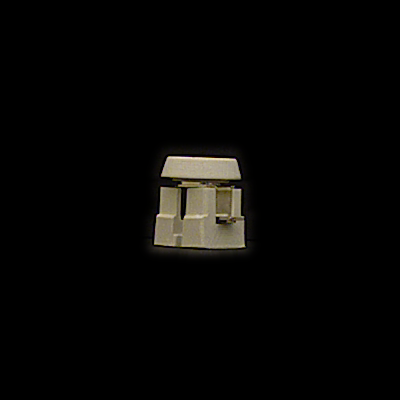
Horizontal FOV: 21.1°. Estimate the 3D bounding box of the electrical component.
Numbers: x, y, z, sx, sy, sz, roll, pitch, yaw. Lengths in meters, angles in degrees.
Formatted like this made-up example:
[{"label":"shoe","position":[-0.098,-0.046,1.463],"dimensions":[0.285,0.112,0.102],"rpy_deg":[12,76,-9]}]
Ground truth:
[{"label":"electrical component","position":[0.000,0.000,0.657],"dimensions":[0.066,0.055,0.049],"rpy_deg":[3,4,45]}]
